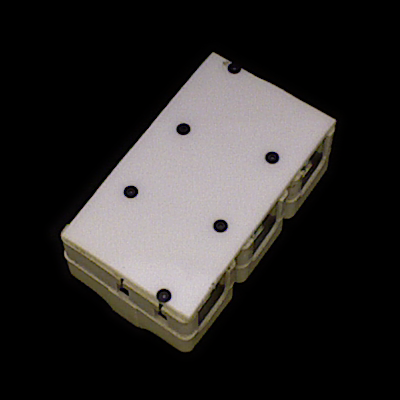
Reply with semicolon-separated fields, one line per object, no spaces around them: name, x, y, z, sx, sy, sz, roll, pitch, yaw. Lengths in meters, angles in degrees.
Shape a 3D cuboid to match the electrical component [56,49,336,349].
electrical component;0.000;0.000;0.629;0.089;0.150;0.062;32;-22;16
